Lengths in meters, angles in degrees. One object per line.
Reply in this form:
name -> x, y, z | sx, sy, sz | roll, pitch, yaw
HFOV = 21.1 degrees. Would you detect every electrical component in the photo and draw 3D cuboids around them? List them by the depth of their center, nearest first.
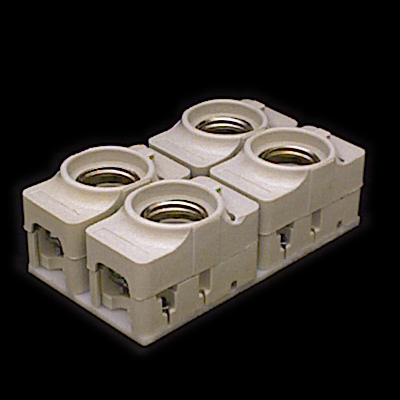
electrical component -> 0.000, 0.000, 0.634 | 0.186, 0.061, 0.104 | -26, 40, -37
